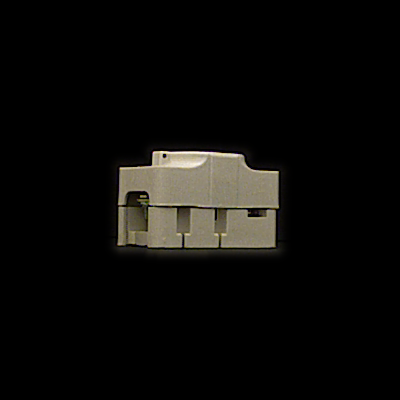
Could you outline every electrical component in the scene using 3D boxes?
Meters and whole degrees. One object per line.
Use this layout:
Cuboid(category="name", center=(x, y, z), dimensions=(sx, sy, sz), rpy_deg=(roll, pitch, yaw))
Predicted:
Cuboid(category="electrical component", center=(0.000, 0.000, 0.657), dimensions=(0.090, 0.056, 0.049), rpy_deg=(1, 1, -36))
